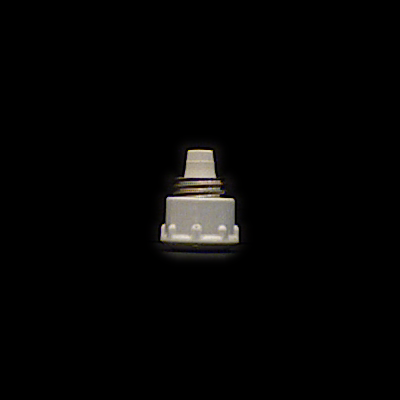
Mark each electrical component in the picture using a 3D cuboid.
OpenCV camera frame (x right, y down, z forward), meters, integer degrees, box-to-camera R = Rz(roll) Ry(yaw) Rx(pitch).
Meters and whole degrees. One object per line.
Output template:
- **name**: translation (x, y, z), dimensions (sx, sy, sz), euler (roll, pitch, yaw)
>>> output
- **electrical component**: translation (0.000, 0.000, 0.656), dimensions (0.048, 0.062, 0.048), euler (1, 1, 1)
